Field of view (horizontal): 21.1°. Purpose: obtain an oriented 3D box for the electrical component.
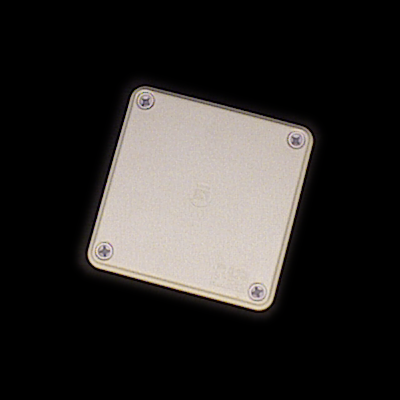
[{"bbox_3d":[0.000,0.000,0.631,0.109,0.109,0.056,15,-7,2],"label":"electrical component"}]
